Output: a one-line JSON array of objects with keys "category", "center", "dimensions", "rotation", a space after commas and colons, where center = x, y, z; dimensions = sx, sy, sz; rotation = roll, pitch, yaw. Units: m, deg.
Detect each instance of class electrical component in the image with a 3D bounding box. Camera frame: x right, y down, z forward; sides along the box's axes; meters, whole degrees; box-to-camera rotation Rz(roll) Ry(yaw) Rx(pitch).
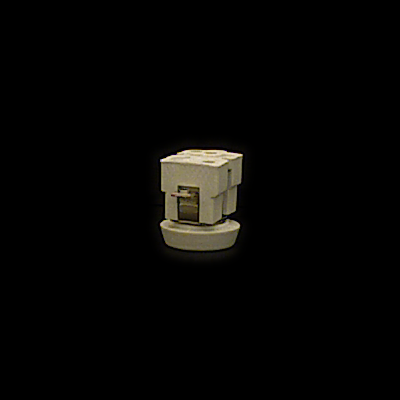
[{"category": "electrical component", "center": [0.000, 0.000, 0.653], "dimensions": [0.048, 0.056, 0.066], "rotation": [7, 14, 20]}]
